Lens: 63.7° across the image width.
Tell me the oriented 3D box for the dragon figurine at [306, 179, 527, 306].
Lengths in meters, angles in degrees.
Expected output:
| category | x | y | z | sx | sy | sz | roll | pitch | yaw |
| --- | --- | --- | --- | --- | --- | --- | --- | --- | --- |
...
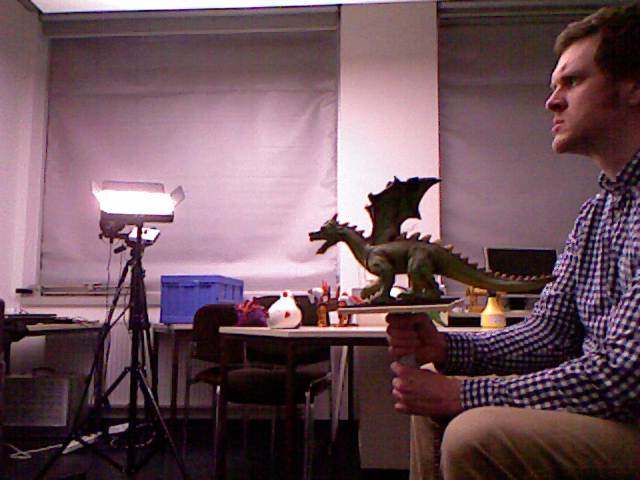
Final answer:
| category | x | y | z | sx | sy | sz | roll | pitch | yaw |
| --- | --- | --- | --- | --- | --- | --- | --- | --- | --- |
| dragon figurine | 0.173 | 0.000 | 1.009 | 0.410 | 0.243 | 0.122 | -6 | 0 | 17 |
